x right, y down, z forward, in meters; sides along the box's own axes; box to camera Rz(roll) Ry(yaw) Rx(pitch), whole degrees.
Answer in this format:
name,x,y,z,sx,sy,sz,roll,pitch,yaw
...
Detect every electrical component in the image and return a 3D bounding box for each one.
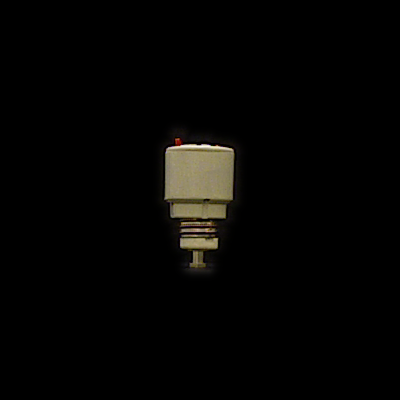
name,x,y,z,sx,sy,sz,roll,pitch,yaw
electrical component,0.000,0.000,0.649,0.040,0.078,0.040,1,1,0
